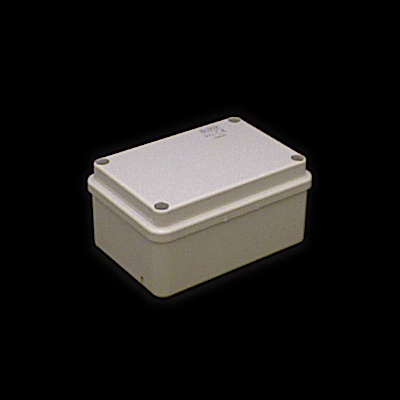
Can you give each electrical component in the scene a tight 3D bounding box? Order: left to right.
[{"bbox_3d":[0.000,0.000,0.636,0.113,0.058,0.077,-20,37,-31],"label":"electrical component"}]
